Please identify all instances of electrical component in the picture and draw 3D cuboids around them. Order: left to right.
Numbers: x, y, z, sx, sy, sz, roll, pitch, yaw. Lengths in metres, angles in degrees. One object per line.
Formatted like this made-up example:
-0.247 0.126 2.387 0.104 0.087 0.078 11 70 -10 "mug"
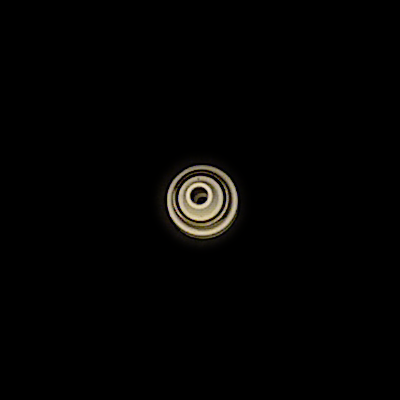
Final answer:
0.000 0.000 0.635 0.043 0.043 0.062 0 -6 2 "electrical component"
